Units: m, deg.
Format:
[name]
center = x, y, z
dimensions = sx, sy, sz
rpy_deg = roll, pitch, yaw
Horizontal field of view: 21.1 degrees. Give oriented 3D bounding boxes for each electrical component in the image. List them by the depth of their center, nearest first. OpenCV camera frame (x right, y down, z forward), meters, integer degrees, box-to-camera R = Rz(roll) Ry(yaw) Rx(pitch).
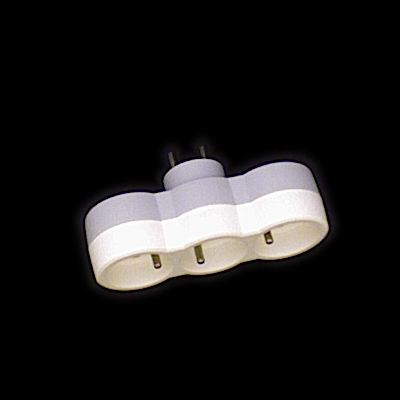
[electrical component]
center = 0.000, 0.000, 0.630
dimensions = 0.138, 0.074, 0.052
rpy_deg = -12, -28, -6
